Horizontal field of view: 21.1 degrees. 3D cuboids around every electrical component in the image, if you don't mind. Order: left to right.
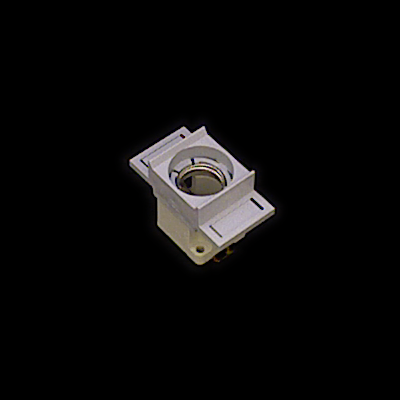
[{"bbox_3d":[0.000,0.000,0.627,0.042,0.080,0.064,-34,-30,-22],"label":"electrical component"}]
